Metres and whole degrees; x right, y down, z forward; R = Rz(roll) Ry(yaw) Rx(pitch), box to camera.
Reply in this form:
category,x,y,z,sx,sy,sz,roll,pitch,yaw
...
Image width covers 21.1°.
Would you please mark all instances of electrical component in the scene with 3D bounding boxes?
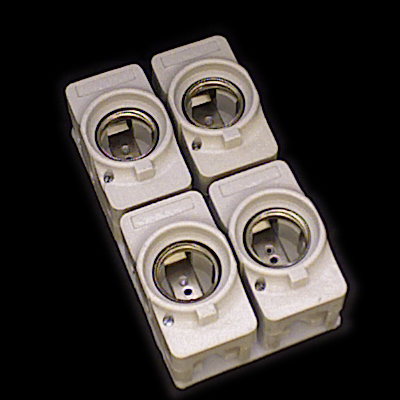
category,x,y,z,sx,sy,sz,roll,pitch,yaw
electrical component,0.000,0.000,0.626,0.106,0.186,0.060,-20,-25,-10
